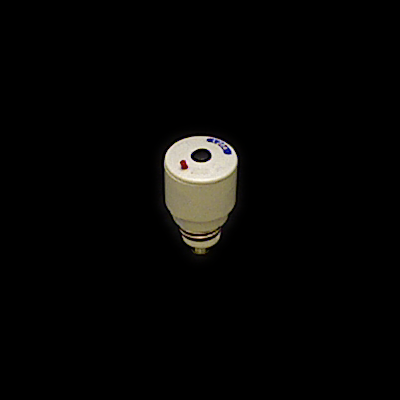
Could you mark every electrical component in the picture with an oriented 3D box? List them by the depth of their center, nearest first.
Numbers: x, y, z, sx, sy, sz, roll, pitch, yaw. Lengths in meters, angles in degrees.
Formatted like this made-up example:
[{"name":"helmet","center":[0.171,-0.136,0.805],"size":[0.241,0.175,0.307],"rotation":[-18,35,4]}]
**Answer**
[{"name":"electrical component","center":[0.000,0.000,0.623],"size":[0.040,0.079,0.039],"rotation":[0,42,0]}]
